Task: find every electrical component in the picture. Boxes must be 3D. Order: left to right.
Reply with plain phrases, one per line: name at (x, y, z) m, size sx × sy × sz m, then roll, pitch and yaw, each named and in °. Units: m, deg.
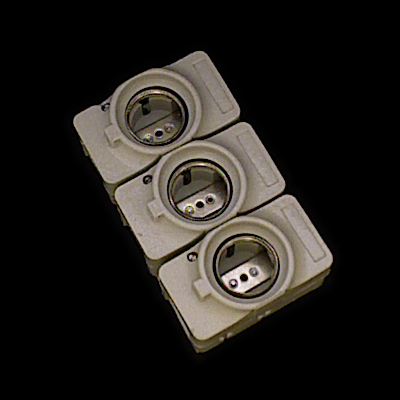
electrical component at (0.000, 0.000, 0.631) m, size 0.090 × 0.150 × 0.062 m, roll -29°, pitch -15°, yaw -7°
